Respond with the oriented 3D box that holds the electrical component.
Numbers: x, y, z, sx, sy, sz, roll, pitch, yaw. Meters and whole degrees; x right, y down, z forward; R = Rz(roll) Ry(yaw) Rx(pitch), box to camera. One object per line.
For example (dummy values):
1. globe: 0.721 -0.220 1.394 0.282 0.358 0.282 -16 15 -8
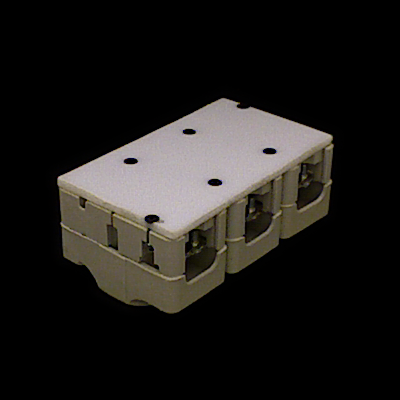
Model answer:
1. electrical component: 0.000 0.000 0.644 0.088 0.063 0.148 25 38 33
